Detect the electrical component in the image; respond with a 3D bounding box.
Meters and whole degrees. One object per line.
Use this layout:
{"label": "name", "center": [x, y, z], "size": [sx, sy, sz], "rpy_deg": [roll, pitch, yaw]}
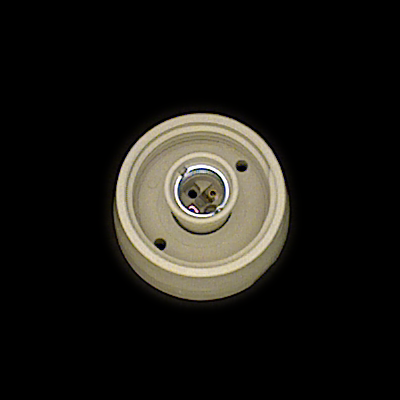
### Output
{"label": "electrical component", "center": [0.000, 0.000, 0.633], "size": [0.108, 0.108, 0.060], "rpy_deg": [0, -16, 0]}
